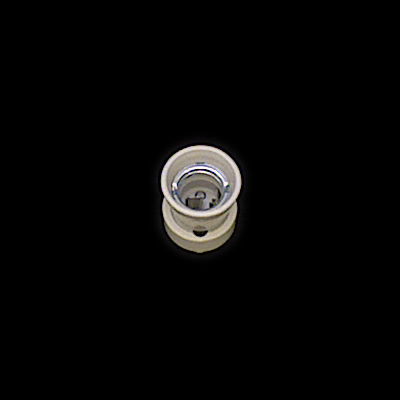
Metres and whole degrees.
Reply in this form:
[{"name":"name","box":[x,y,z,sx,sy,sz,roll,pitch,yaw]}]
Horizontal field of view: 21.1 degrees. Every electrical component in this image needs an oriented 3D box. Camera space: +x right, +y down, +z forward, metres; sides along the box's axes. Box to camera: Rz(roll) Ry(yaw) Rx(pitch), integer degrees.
[{"name":"electrical component","box":[0.000,0.000,0.629,0.045,0.045,0.055,0,-27,-1]}]
